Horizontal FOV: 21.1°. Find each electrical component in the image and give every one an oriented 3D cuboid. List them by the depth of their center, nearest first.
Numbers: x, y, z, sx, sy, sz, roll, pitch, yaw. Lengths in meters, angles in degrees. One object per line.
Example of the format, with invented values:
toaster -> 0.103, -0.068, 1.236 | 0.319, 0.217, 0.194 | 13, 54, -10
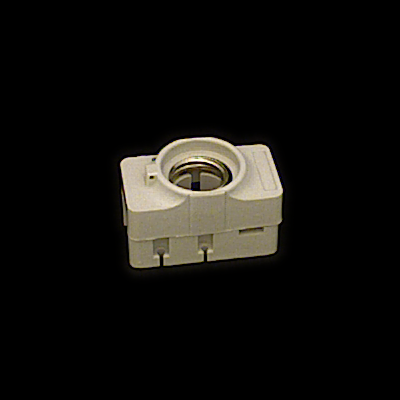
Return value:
electrical component -> 0.000, 0.000, 0.640 | 0.090, 0.056, 0.049 | -6, 43, -8
